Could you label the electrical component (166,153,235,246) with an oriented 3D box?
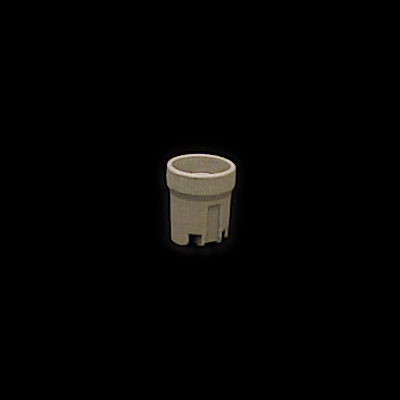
[{"bbox_3d":[0.000,0.000,0.638,0.040,0.047,0.039,1,21,0],"label":"electrical component"}]
